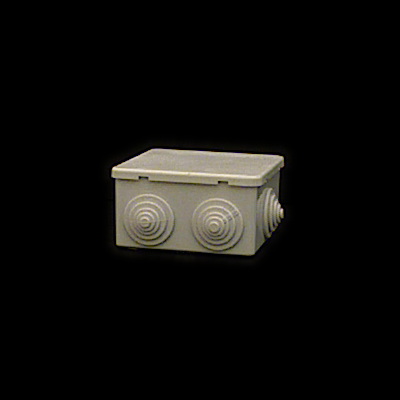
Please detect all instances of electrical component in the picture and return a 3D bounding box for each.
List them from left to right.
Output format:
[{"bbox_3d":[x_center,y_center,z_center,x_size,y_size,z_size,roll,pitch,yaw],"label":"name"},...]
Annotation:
[{"bbox_3d":[0.000,0.000,0.653,0.099,0.049,0.099,4,11,13],"label":"electrical component"}]
